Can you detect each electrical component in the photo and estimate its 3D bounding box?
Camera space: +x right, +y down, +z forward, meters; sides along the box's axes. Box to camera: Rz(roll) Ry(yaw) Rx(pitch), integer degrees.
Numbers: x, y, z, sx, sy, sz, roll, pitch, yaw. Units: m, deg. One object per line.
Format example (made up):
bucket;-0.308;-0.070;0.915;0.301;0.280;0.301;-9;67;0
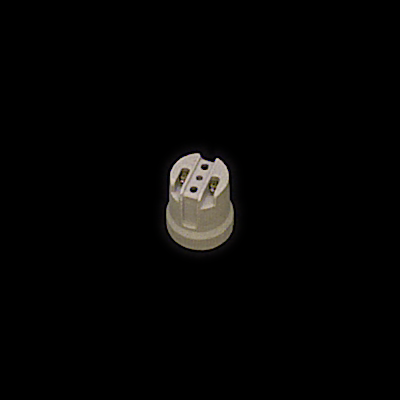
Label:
electrical component;0.000;0.000;0.633;0.040;0.040;0.046;0;-38;0
